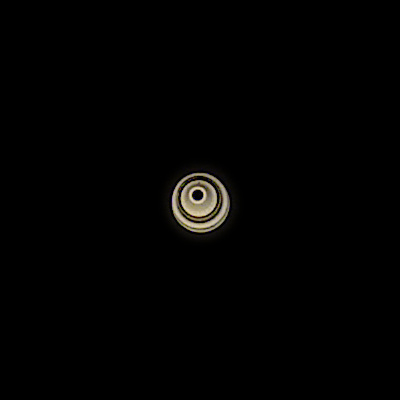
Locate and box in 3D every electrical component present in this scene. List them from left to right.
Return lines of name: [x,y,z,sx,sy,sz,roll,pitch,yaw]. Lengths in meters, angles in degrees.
electrical component: [0.000,0.000,0.637,0.035,0.035,0.061,0,-7,2]
